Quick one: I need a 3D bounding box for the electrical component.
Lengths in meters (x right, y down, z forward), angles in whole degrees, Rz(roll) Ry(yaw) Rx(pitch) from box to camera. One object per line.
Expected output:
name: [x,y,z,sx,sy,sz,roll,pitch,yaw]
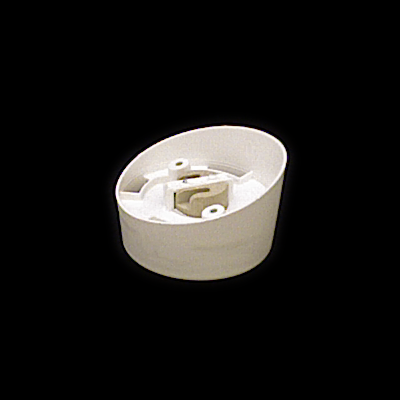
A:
electrical component: [0.000,0.000,0.634,0.099,0.065,0.097,1,30,-1]
